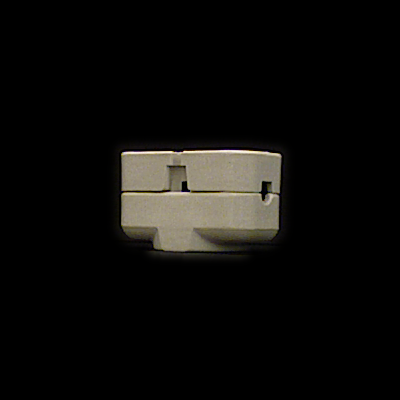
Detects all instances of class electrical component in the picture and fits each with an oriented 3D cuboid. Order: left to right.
[{"bbox_3d":[0.000,0.000,0.660,0.094,0.059,0.054,1,1,32],"label":"electrical component"}]
